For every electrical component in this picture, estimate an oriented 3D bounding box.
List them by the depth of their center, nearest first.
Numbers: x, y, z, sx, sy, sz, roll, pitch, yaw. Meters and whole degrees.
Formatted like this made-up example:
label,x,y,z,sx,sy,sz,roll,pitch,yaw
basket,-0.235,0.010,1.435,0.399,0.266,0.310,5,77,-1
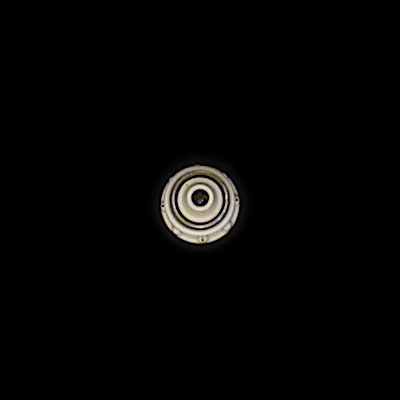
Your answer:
label,x,y,z,sx,sy,sz,roll,pitch,yaw
electrical component,0.000,0.000,0.635,0.048,0.048,0.062,0,-5,0
